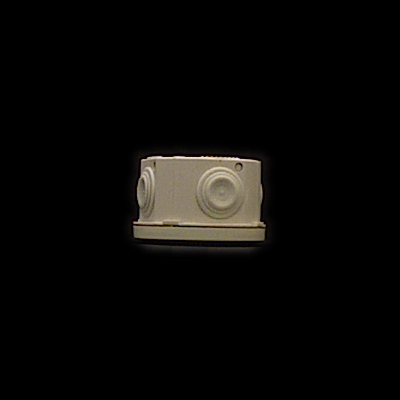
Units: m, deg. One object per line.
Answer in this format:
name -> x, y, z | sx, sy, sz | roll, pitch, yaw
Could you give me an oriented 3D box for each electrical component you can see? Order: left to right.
electrical component -> 0.000, 0.000, 0.651 | 0.080, 0.051, 0.080 | 1, 0, 0
